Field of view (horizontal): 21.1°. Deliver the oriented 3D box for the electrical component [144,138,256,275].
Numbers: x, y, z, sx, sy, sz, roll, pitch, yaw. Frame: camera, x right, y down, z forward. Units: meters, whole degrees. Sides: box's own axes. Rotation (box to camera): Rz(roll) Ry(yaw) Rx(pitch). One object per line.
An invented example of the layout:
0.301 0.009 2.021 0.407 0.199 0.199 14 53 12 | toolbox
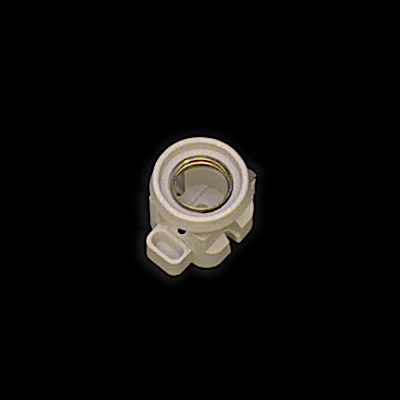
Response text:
0.000 0.000 0.629 0.057 0.079 0.057 37 -21 17 | electrical component
